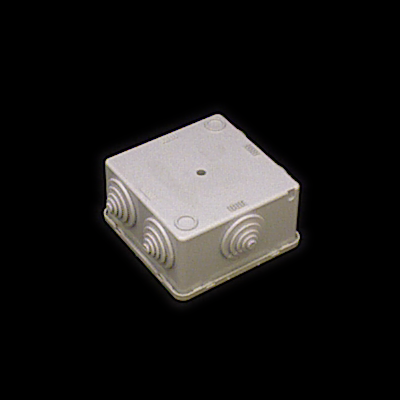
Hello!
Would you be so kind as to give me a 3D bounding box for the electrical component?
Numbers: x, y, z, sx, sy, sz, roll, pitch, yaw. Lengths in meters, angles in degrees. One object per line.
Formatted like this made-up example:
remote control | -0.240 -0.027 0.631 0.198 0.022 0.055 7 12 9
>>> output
electrical component | 0.000 0.000 0.633 0.100 0.049 0.099 -24 48 -25
